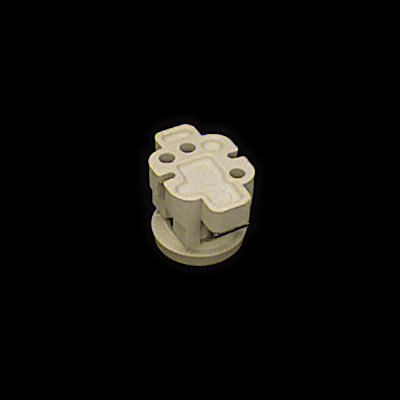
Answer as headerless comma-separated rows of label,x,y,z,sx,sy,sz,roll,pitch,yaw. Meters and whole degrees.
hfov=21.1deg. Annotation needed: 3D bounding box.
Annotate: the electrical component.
electrical component,0.000,0.000,0.639,0.058,0.057,0.077,-20,48,-22
